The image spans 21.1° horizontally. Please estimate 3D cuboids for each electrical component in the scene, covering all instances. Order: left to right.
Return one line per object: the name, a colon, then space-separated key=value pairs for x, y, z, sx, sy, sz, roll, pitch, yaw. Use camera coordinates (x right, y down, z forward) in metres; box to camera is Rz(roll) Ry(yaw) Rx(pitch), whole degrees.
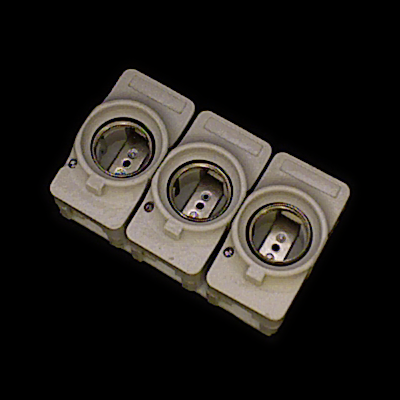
electrical component: x=0.000 y=0.000 z=0.631 sx=0.150 sy=0.089 sz=0.062 roll=29 pitch=-14 yaw=9
